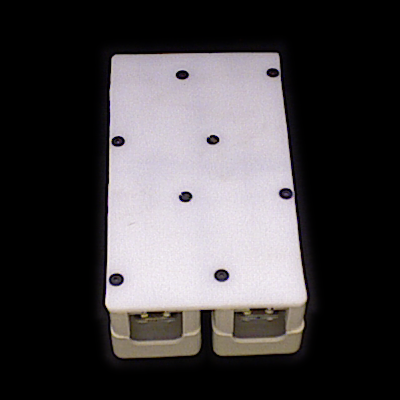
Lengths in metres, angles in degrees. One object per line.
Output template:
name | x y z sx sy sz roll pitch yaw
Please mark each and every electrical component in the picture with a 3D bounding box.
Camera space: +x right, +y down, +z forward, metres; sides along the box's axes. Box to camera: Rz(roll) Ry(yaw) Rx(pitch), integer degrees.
electrical component | 0.000 0.000 0.627 0.105 0.185 0.060 -2 -37 -2
